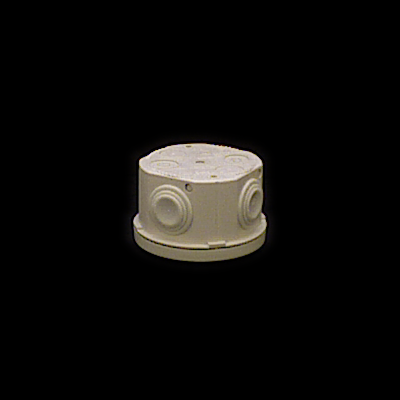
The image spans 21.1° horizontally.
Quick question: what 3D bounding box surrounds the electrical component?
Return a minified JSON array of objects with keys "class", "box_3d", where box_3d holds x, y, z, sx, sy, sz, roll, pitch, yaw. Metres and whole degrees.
[{"class":"electrical component","box_3d":[0.000,0.000,0.642,0.080,0.051,0.079,1,20,0]}]
